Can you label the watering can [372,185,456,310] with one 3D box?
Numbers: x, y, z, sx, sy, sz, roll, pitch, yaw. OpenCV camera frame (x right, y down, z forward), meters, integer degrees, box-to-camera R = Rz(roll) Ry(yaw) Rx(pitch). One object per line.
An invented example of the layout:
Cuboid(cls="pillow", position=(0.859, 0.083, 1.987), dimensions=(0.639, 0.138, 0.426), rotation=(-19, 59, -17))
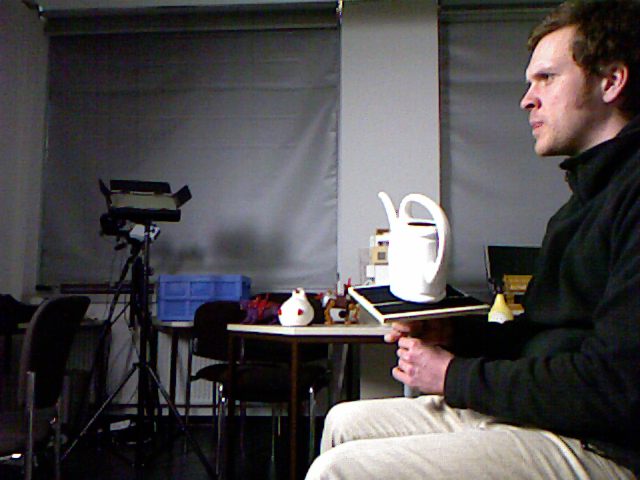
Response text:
Cuboid(cls="watering can", position=(0.176, 0.005, 1.027), dimensions=(0.104, 0.222, 0.352), rotation=(-3, 14, -13))
